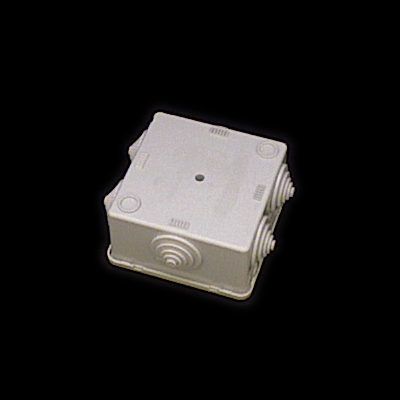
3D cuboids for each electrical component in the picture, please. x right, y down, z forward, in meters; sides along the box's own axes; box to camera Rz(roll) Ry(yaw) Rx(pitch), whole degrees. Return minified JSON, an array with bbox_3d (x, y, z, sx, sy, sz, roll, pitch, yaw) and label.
[{"bbox_3d":[0.000,0.000,0.633,0.099,0.099,0.049,15,-36,10],"label":"electrical component"}]
